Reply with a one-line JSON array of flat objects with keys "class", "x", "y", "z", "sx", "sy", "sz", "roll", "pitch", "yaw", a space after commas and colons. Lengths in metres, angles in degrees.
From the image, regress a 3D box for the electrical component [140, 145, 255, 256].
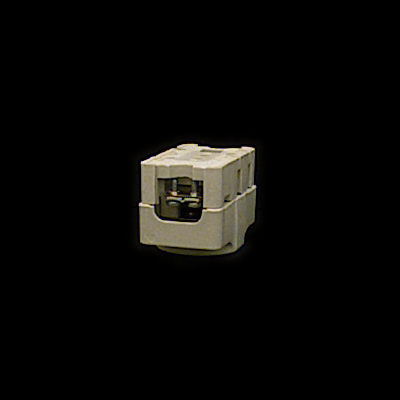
[{"class": "electrical component", "x": 0.000, "y": 0.000, "z": 0.651, "sx": 0.050, "sy": 0.056, "sz": 0.089, "roll": 4, "pitch": 11, "yaw": 15}]
